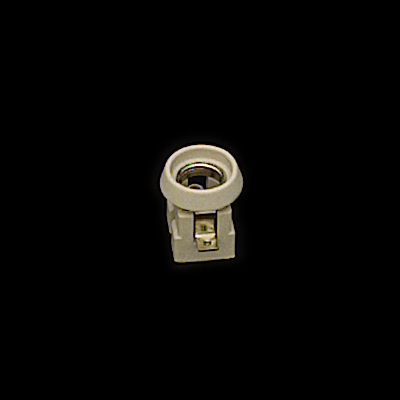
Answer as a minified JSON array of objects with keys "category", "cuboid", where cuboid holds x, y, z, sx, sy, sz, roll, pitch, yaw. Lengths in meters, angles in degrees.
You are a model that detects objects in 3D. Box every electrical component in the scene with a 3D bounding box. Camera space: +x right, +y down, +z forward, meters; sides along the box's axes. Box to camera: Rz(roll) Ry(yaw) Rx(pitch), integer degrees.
[{"category":"electrical component","cuboid":[0.000,0.000,0.639,0.048,0.056,0.066,-7,43,-6]}]
